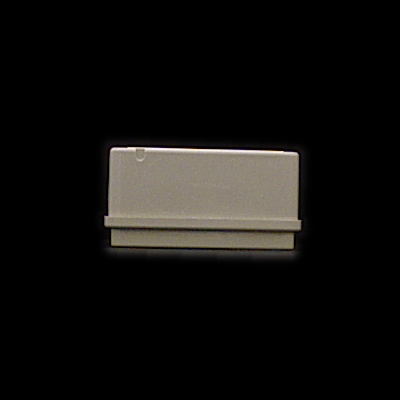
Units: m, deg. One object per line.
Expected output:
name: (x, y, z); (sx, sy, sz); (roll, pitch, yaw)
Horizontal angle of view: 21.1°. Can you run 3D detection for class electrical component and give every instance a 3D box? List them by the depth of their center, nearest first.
electrical component: (0.000, 0.000, 0.649); (0.113, 0.057, 0.078); (2, 0, -5)
